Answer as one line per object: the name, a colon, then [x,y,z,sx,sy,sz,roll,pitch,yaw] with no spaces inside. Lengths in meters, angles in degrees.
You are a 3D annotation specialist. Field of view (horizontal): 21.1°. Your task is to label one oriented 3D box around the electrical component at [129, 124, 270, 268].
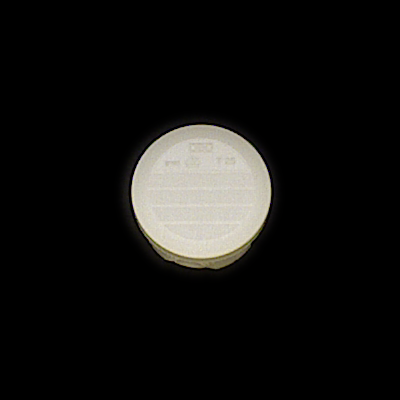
electrical component: [0.000,0.000,0.630,0.080,0.080,0.050,0,-17,0]
